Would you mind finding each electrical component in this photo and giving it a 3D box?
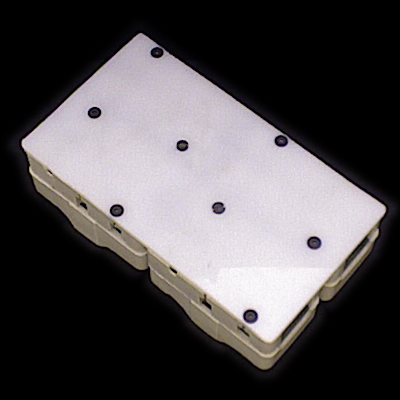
[{"bbox_3d":[0.000,0.000,0.626,0.186,0.106,0.060,37,-21,17],"label":"electrical component"}]
